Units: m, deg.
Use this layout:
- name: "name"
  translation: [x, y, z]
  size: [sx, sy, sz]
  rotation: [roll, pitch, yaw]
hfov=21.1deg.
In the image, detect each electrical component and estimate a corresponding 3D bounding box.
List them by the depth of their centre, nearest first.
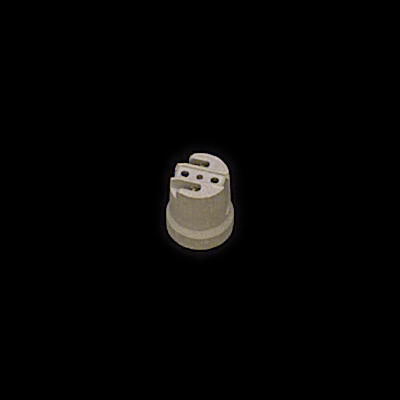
- name: "electrical component"
  translation: [0.000, 0.000, 0.634]
  size: [0.040, 0.040, 0.046]
  rotation: [0, -38, -1]
